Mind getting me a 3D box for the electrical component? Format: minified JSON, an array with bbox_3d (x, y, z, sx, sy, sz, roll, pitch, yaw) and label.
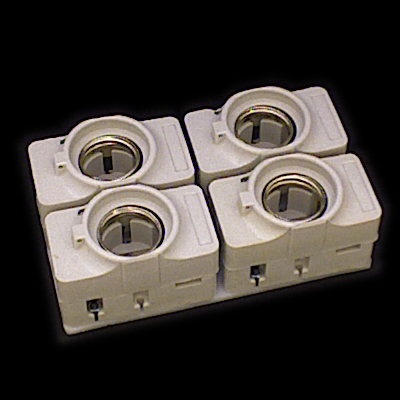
[{"bbox_3d":[0.000,0.000,0.627,0.186,0.105,0.060,-12,-37,-9],"label":"electrical component"}]
